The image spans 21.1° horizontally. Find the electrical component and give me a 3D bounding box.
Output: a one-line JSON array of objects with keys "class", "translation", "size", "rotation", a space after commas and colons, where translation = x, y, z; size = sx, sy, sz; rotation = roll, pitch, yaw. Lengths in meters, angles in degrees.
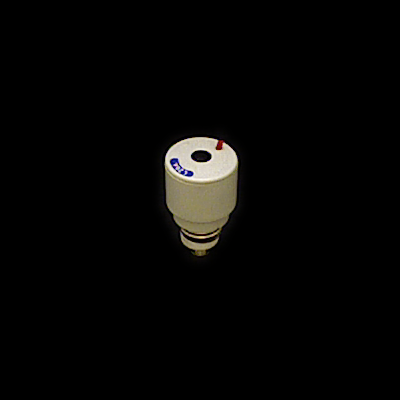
[{"class": "electrical component", "translation": [0.000, 0.000, 0.625], "size": [0.040, 0.079, 0.039], "rotation": [1, 41, 0]}]
